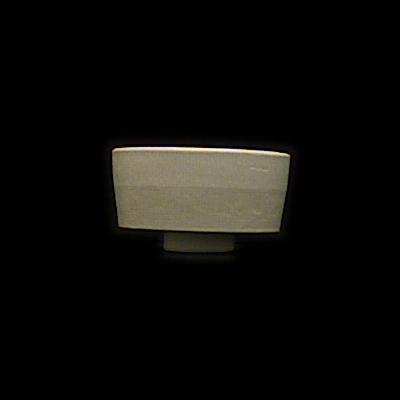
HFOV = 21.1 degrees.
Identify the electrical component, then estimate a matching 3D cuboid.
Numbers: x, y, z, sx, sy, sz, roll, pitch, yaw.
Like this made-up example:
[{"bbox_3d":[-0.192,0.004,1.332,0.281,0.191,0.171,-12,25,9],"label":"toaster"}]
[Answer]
[{"bbox_3d":[0.000,0.000,0.654,0.108,0.060,0.108,2,1,1],"label":"electrical component"}]
